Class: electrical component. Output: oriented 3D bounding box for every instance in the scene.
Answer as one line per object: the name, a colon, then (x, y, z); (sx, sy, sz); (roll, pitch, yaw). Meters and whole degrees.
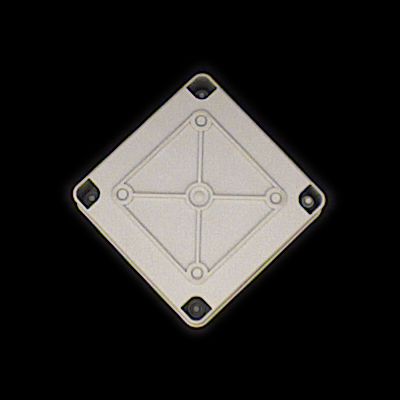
electrical component: (0.000, 0.000, 0.629); (0.109, 0.109, 0.056); (-43, -4, -5)
